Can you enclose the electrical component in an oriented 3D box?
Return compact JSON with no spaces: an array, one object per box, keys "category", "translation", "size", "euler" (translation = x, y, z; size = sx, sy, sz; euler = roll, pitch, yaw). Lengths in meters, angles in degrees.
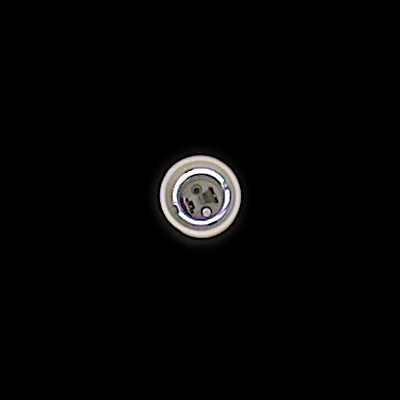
[{"category":"electrical component","translation":[0.000,0.000,0.629],"size":[0.045,0.045,0.055],"euler":[0,-6,1]}]
